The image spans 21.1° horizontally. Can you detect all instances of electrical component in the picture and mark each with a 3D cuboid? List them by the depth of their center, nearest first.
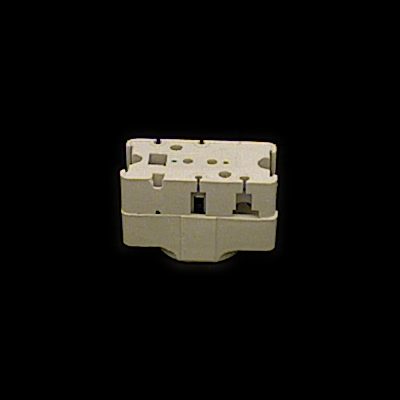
[{"bbox_3d":[0.000,0.000,0.642,0.089,0.056,0.049,1,33,1],"label":"electrical component"}]
